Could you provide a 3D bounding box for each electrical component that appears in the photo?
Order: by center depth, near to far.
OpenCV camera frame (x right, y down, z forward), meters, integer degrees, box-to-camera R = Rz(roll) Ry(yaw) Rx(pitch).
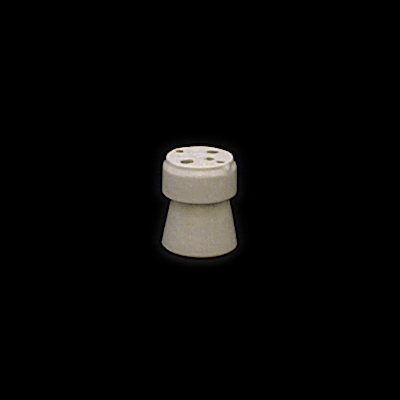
[{"bbox_3d":[0.000,0.000,0.638,0.045,0.056,0.044,0,21,0],"label":"electrical component"}]
